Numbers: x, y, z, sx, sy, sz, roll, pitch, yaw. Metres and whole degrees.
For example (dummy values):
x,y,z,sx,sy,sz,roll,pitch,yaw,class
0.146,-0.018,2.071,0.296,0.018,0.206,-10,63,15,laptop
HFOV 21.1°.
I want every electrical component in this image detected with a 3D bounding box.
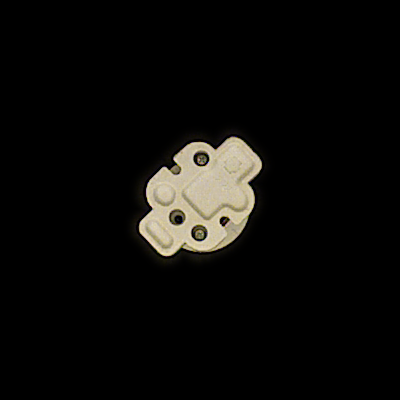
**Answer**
x,y,z,sx,sy,sz,roll,pitch,yaw,class
0.000,0.000,0.637,0.079,0.058,0.056,-44,-5,-5,electrical component
